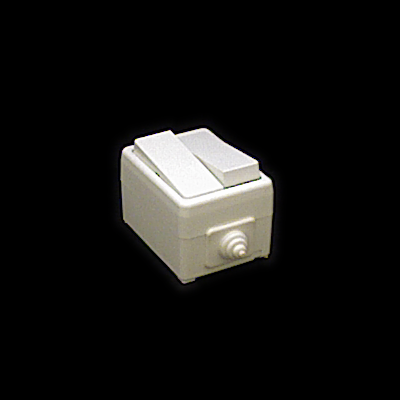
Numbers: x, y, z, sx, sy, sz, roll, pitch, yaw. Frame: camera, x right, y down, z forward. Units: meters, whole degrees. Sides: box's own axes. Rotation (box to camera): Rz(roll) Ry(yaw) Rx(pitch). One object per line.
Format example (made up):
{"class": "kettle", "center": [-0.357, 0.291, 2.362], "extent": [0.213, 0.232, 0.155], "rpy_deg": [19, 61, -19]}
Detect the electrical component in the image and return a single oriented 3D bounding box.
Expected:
{"class": "electrical component", "center": [0.000, 0.000, 0.632], "extent": [0.061, 0.061, 0.095], "rpy_deg": [-16, 35, -25]}
